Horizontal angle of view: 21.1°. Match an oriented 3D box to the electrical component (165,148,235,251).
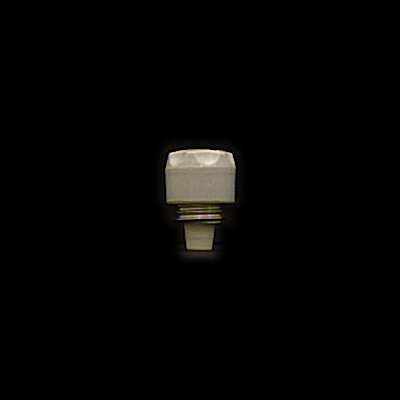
[{"bbox_3d":[0.000,0.000,0.657,0.043,0.062,0.043,1,1,1],"label":"electrical component"}]
